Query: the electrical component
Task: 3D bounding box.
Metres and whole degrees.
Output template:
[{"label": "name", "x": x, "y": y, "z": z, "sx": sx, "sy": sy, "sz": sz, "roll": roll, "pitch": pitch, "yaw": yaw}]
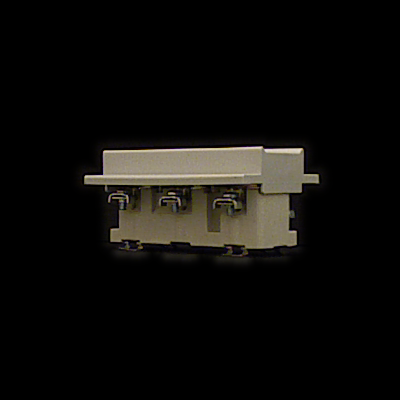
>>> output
[{"label": "electrical component", "x": 0.000, "y": 0.000, "z": 0.660, "sx": 0.121, "sy": 0.063, "sz": 0.079, "roll": 2, "pitch": 3, "yaw": 38}]
